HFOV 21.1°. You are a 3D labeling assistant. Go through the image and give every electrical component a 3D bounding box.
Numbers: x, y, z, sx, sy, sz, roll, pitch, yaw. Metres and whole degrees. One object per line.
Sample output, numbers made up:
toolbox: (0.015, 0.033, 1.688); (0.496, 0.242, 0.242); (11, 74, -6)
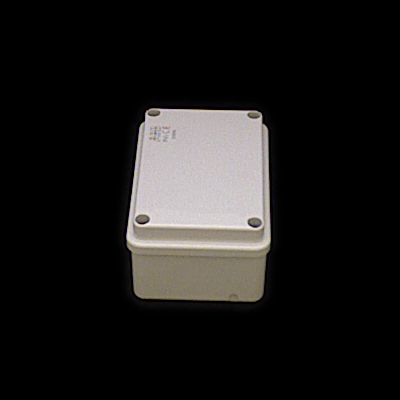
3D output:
electrical component: (0.000, 0.000, 0.631); (0.078, 0.057, 0.112); (1, 42, 1)
